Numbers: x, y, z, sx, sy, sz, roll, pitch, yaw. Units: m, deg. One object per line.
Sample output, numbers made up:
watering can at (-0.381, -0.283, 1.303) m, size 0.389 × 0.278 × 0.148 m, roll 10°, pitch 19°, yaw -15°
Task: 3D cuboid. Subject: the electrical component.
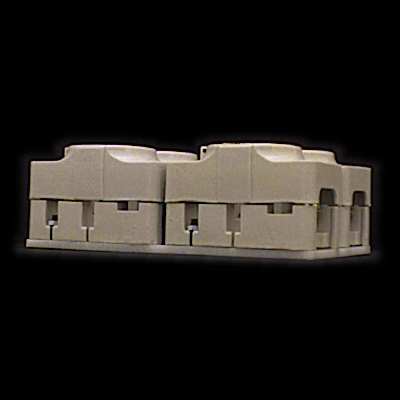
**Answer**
electrical component at (0.000, 0.000, 0.649) m, size 0.186 × 0.060 × 0.106 m, roll 1°, pitch 0°, yaw 27°
